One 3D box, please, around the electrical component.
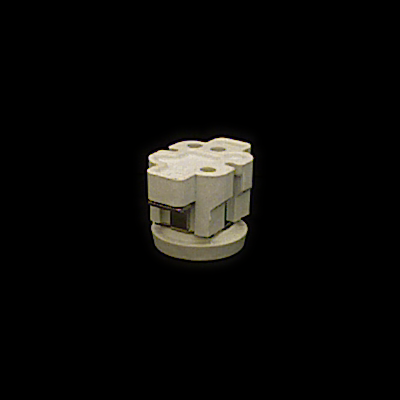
[{"bbox_3d":[0.000,0.000,0.644,0.057,0.057,0.078,15,27,30],"label":"electrical component"}]
